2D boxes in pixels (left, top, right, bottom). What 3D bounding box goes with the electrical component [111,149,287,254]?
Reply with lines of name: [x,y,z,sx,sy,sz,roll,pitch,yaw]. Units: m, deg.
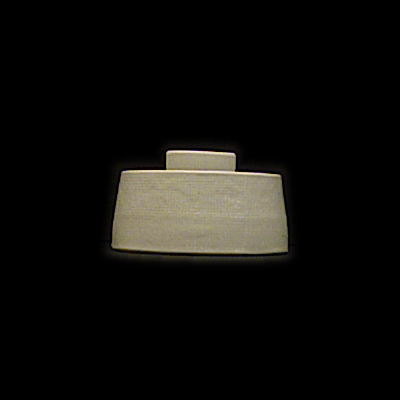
electrical component: [0.000,0.000,0.656,0.108,0.060,0.108,1,1,1]
